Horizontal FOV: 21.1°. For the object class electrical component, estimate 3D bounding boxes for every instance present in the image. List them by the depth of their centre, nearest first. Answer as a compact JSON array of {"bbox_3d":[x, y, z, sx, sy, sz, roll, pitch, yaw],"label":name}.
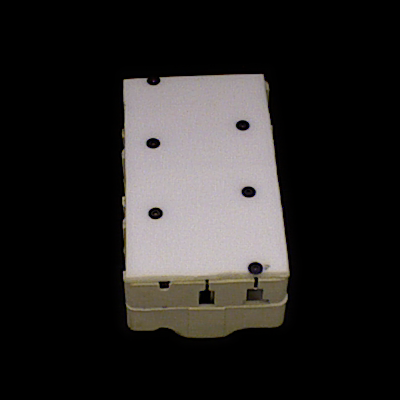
[{"bbox_3d":[0.000,0.000,0.635,0.090,0.147,0.063,-2,-38,-2],"label":"electrical component"}]
